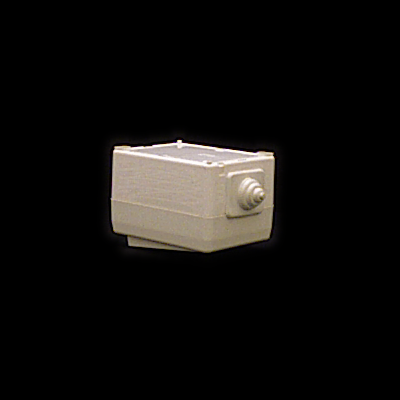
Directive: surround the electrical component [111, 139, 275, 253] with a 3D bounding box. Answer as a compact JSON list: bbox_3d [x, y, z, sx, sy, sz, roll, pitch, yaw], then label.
[{"bbox_3d":[0.000,0.000,0.642,0.095,0.061,0.061,11,14,40],"label":"electrical component"}]
